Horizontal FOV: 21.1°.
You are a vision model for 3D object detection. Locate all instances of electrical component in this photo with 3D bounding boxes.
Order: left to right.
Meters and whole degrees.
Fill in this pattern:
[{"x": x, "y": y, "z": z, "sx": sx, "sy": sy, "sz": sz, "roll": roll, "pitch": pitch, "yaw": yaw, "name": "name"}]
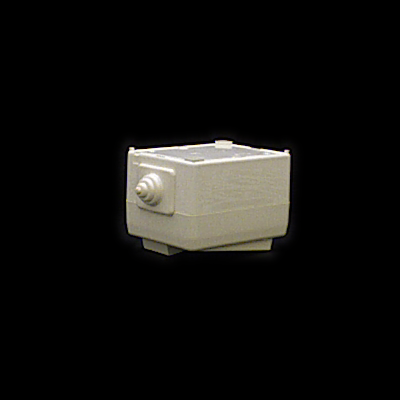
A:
[{"x": 0.000, "y": 0.000, "z": 0.638, "sx": 0.096, "sy": 0.061, "sz": 0.061, "roll": -7, "pitch": 14, "yaw": -42, "name": "electrical component"}]
